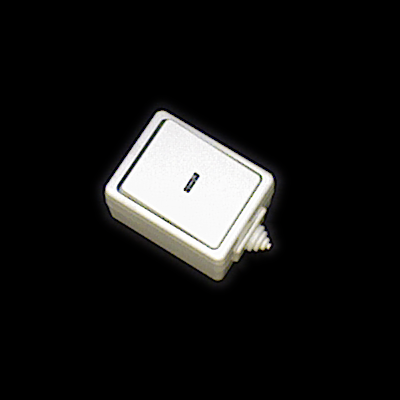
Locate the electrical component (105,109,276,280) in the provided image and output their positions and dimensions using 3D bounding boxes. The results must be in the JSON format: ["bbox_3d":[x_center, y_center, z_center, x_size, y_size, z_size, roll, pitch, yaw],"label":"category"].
[{"bbox_3d":[0.000,0.000,0.625,0.096,0.062,0.060,31,-14,9],"label":"electrical component"}]
